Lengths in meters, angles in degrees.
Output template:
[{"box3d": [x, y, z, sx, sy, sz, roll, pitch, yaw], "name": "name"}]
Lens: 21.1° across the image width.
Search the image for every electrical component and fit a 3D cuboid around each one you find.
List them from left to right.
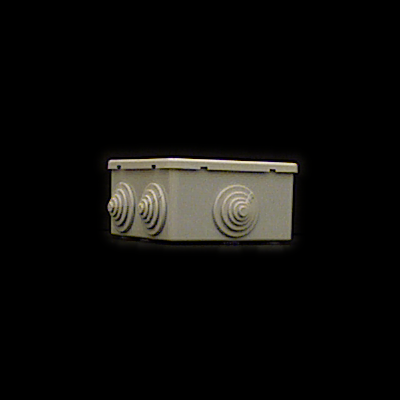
[{"box3d": [0.000, 0.000, 0.657, 0.100, 0.048, 0.099, 1, 1, -30], "name": "electrical component"}]
